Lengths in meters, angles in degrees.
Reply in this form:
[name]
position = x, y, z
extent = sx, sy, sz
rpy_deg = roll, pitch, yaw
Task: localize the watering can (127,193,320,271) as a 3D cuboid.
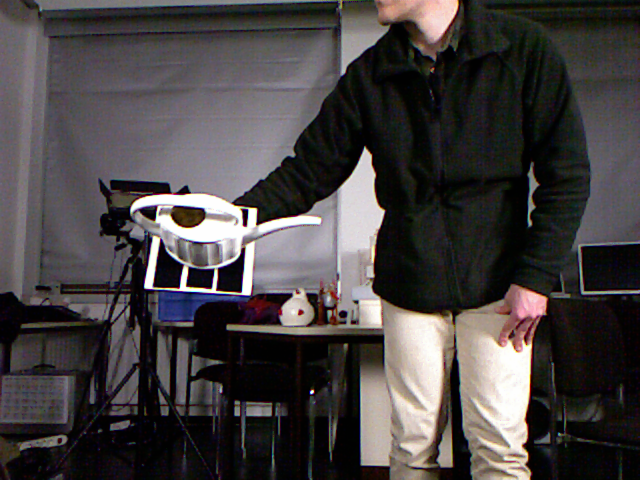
[watering can]
position = -0.184, -0.016, 0.985
extent = 0.348, 0.106, 0.220
rpy_deg = 6, -26, -6
